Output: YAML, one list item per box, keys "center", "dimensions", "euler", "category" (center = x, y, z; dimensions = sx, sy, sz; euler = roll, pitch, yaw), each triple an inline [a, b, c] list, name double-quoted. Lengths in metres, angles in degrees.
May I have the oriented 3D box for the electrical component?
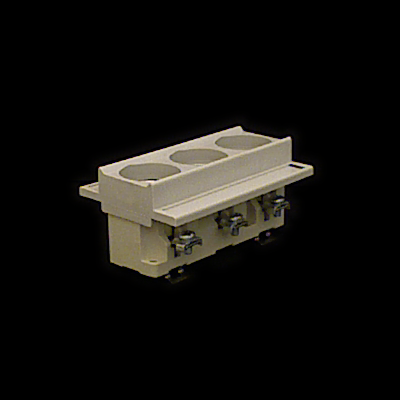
- center: [0.000, 0.000, 0.651]
  dimensions: [0.078, 0.064, 0.121]
  euler: [18, 27, 40]
  category: "electrical component"
